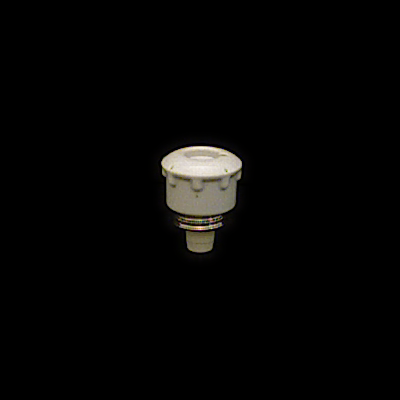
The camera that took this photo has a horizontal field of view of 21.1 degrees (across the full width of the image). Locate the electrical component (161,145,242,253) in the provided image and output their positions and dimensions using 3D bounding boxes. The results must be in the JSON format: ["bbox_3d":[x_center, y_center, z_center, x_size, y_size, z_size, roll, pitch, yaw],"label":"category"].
[{"bbox_3d":[0.000,0.000,0.648,0.048,0.063,0.047,1,22,0],"label":"electrical component"}]
